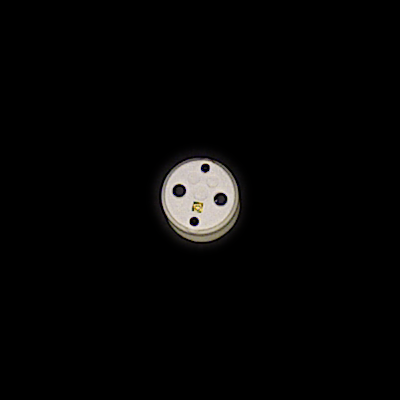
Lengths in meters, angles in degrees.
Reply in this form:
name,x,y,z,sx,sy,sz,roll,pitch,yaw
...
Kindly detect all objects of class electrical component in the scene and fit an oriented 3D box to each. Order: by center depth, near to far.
name,x,y,z,sx,sy,sz,roll,pitch,yaw
electrical component,0.000,0.000,0.630,0.045,0.045,0.055,0,-7,1
